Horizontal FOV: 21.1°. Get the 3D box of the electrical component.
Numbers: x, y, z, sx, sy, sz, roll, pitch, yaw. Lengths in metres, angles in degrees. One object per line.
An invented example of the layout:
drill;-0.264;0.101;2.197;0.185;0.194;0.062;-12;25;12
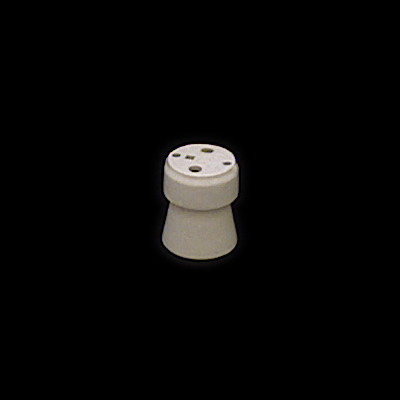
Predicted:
electrical component;0.000;0.000;0.637;0.045;0.056;0.044;1;32;-1
